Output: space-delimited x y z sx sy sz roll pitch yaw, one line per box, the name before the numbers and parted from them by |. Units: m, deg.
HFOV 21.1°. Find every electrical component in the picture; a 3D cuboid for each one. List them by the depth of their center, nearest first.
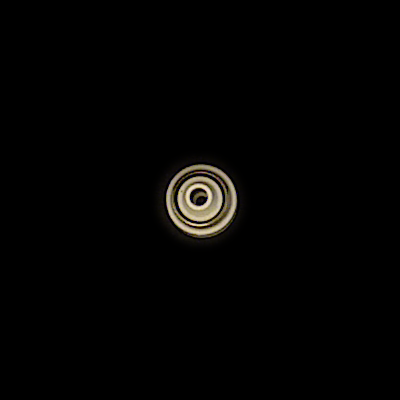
electrical component | 0.000 0.000 0.635 0.043 0.043 0.062 0 -4 2
